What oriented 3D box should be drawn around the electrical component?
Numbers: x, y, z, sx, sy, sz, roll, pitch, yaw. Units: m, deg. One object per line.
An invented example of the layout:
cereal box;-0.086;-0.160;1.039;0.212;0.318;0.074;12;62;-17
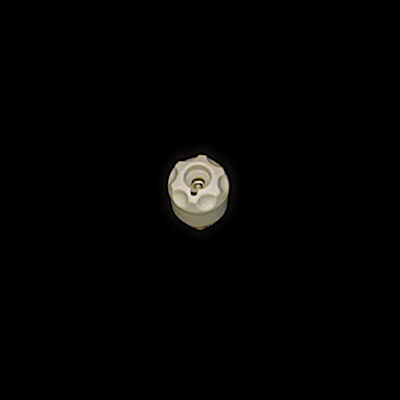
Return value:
electrical component;0.000;0.000;0.633;0.035;0.035;0.061;0;-27;1
